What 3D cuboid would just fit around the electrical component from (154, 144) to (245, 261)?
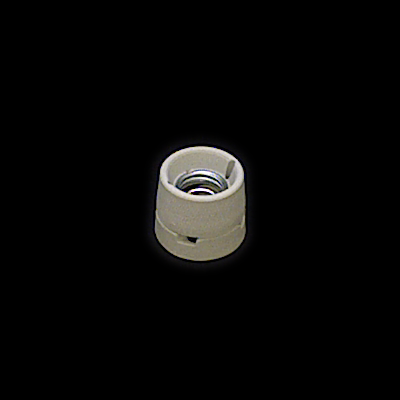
[{"bbox_3d":[0.000,0.000,0.637,0.055,0.047,0.055,1,42,-1],"label":"electrical component"}]
